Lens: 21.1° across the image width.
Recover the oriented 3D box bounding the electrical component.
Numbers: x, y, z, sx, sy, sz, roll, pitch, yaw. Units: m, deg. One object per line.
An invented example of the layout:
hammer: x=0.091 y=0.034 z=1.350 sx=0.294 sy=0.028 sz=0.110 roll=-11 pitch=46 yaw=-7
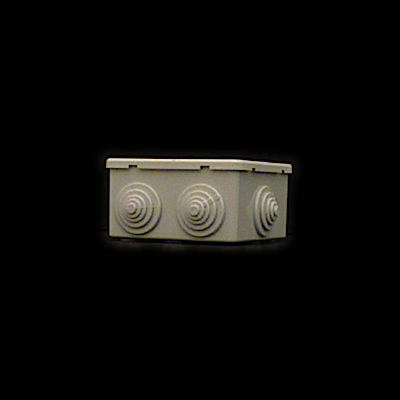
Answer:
electrical component: x=0.000 y=0.000 z=0.658 sx=0.099 sy=0.048 sz=0.100 roll=2 pitch=1 yaw=25
